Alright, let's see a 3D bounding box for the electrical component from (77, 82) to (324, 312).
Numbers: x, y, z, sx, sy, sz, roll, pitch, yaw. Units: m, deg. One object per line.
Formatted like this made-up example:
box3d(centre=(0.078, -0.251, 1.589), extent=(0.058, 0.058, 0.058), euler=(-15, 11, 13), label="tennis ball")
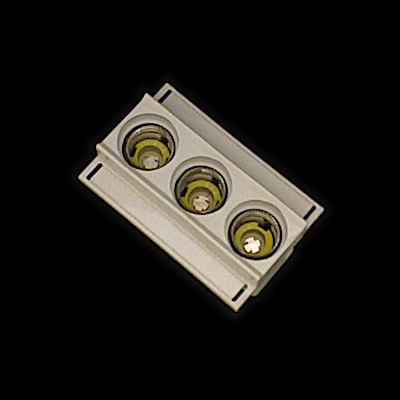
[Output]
box3d(centre=(0.000, 0.000, 0.637), extent=(0.121, 0.079, 0.063), euler=(40, -13, 11), label="electrical component")
